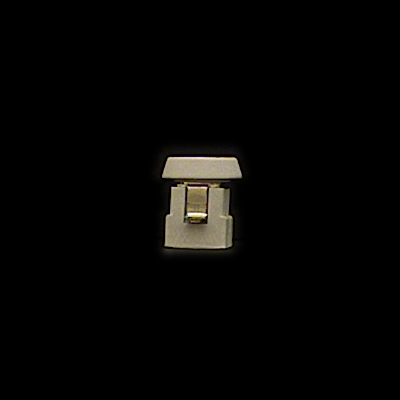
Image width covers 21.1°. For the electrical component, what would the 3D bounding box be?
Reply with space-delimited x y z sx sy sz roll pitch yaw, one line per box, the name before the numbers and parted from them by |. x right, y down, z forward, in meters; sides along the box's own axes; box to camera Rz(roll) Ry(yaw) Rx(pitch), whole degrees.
electrical component | 0.000 0.000 0.656 0.048 0.055 0.066 -1 1 5
